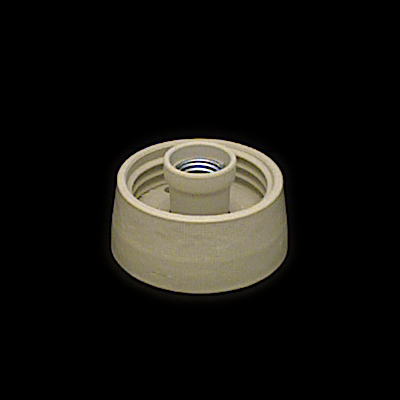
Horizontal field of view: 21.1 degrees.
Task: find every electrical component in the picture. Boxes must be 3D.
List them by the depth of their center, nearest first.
[{"bbox_3d":[0.000,0.000,0.642,0.108,0.061,0.106,1,32,0],"label":"electrical component"}]
